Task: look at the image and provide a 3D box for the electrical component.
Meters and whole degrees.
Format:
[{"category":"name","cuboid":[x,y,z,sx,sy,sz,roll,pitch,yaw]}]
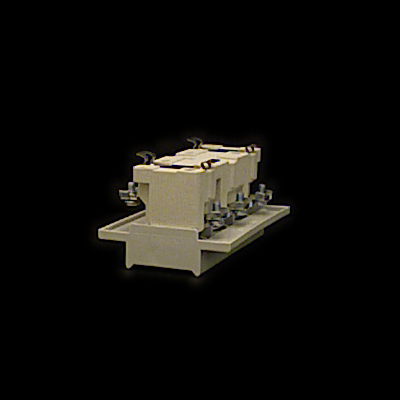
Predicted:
[{"category":"electrical component","cuboid":[0.000,0.000,0.651,0.078,0.063,0.121,6,12,19]}]
